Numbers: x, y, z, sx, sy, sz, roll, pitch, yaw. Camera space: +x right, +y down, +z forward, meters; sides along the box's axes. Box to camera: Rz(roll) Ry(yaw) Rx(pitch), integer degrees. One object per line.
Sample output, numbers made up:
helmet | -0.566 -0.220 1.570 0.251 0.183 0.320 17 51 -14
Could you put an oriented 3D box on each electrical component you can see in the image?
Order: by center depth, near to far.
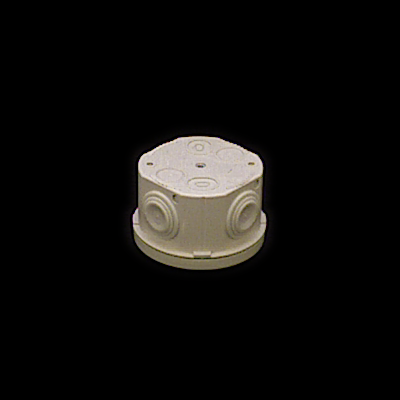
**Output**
electrical component | 0.000 0.000 0.637 0.080 0.051 0.079 1 31 -1
